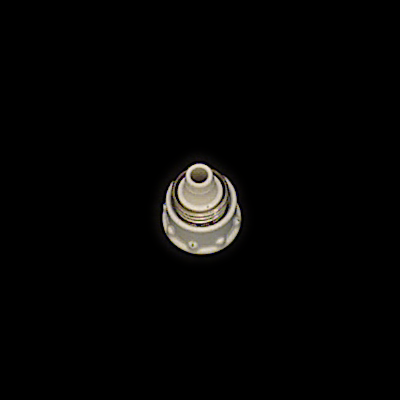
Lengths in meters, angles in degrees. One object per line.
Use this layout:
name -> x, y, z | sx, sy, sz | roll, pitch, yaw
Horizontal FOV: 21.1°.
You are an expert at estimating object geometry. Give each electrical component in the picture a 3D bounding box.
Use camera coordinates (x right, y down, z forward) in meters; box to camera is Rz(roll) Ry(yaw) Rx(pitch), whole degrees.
electrical component -> 0.000, 0.000, 0.634 | 0.048, 0.048, 0.062 | 0, -28, 1
